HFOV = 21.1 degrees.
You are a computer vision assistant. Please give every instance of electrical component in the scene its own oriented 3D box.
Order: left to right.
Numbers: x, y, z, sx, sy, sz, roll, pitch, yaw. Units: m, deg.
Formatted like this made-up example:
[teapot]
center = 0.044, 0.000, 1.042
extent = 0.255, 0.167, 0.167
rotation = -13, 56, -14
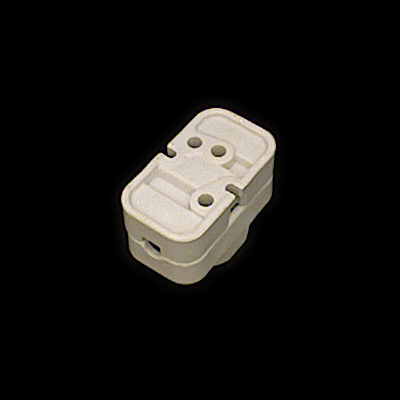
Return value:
[electrical component]
center = 0.000, 0.000, 0.635
extent = 0.053, 0.095, 0.059
rotation = 30, -31, 21
